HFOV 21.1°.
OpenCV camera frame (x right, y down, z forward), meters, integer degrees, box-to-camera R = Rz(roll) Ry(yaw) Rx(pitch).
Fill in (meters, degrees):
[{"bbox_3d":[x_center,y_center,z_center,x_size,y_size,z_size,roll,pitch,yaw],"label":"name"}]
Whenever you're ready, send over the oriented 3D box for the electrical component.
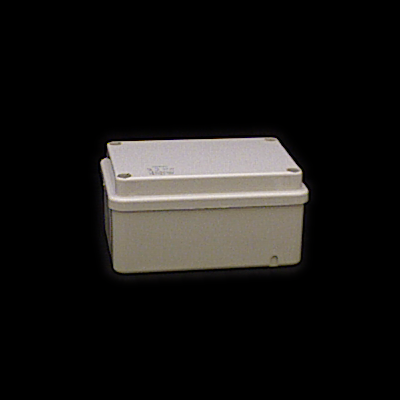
[{"bbox_3d":[0.000,0.000,0.637,0.113,0.058,0.077,-2,21,-9],"label":"electrical component"}]
